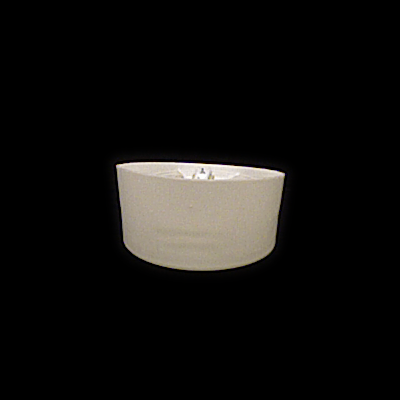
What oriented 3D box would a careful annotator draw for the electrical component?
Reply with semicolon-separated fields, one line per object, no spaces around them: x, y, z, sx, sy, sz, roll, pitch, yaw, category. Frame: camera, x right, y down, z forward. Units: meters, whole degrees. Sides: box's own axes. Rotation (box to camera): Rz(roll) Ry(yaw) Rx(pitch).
0.000;0.000;0.637;0.099;0.065;0.097;1;22;0;electrical component
